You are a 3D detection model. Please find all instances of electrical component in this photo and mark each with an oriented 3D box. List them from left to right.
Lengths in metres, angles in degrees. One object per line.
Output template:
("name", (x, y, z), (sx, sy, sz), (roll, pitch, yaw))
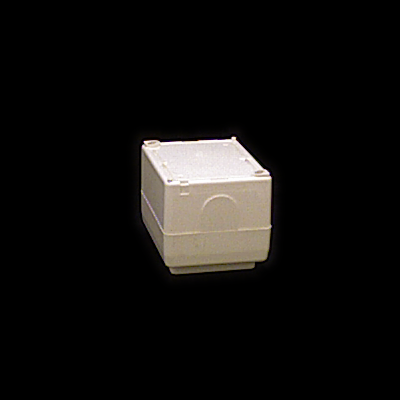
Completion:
("electrical component", (0.000, 0.000, 0.641), (0.062, 0.061, 0.095), (-4, 21, -13))
